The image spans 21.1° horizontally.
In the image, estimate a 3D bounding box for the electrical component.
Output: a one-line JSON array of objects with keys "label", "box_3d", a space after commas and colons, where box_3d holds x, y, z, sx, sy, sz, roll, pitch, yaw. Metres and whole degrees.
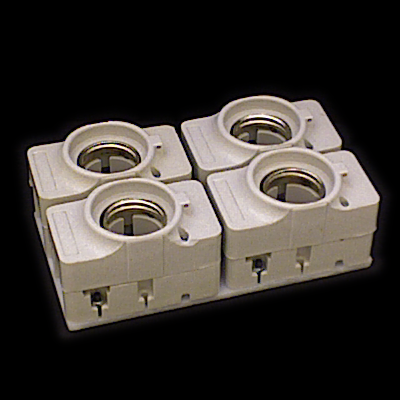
[{"label": "electrical component", "box_3d": [0.000, 0.000, 0.631, 0.186, 0.061, 0.104, -11, 43, -13]}]
